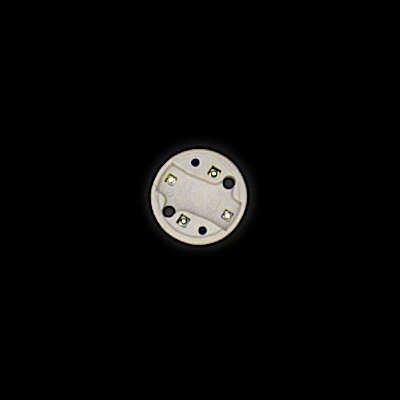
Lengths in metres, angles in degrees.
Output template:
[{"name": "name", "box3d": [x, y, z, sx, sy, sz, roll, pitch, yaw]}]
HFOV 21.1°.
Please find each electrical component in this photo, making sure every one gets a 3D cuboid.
[{"name": "electrical component", "box3d": [0.000, 0.000, 0.636, 0.055, 0.055, 0.047, 0, -7, 0]}]
